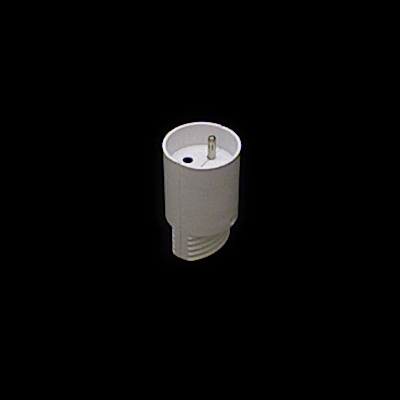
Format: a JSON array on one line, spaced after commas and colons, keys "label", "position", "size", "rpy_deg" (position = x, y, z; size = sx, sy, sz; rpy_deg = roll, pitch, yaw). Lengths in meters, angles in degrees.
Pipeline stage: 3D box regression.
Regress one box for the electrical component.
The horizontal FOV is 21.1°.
[{"label": "electrical component", "position": [0.000, 0.000, 0.625], "size": [0.043, 0.082, 0.042], "rpy_deg": [1, 41, -1]}]
